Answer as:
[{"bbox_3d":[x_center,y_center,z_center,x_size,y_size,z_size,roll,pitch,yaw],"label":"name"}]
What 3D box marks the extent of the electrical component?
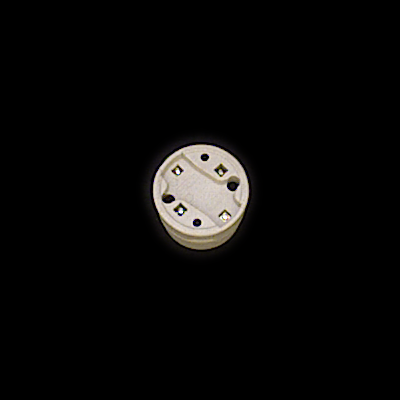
[{"bbox_3d":[0.000,0.000,0.635,0.055,0.056,0.047,0,-17,0],"label":"electrical component"}]
